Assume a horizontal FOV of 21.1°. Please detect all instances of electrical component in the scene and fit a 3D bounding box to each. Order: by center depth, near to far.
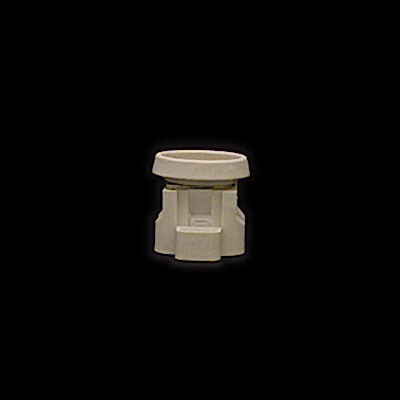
[{"bbox_3d":[0.000,0.000,0.646,0.058,0.057,0.078,2,11,2],"label":"electrical component"}]
